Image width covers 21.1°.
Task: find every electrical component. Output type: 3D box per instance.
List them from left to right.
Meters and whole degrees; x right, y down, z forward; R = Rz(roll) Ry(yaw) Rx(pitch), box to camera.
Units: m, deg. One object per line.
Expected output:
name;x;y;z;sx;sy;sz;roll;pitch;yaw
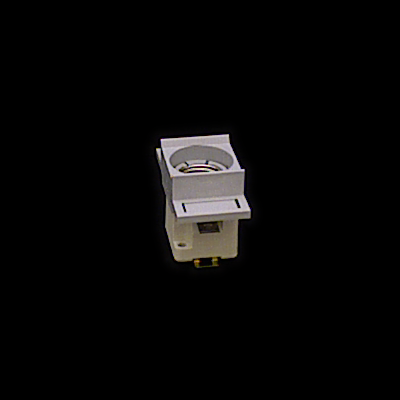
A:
electrical component;0.000;0.000;0.635;0.042;0.065;0.079;-6;32;-8
